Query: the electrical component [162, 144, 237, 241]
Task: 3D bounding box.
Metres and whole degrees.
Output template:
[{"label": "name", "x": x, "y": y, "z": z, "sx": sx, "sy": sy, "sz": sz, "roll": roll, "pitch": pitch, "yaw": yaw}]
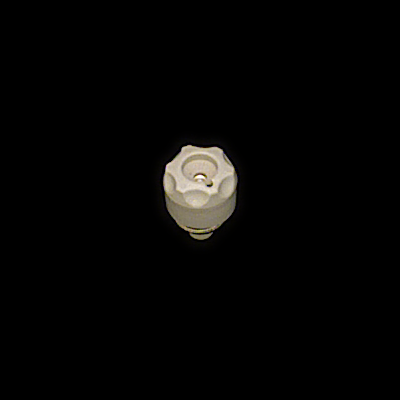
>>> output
[{"label": "electrical component", "x": 0.000, "y": 0.000, "z": 0.636, "sx": 0.043, "sy": 0.043, "sz": 0.062, "roll": 0, "pitch": -38, "yaw": 1}]
